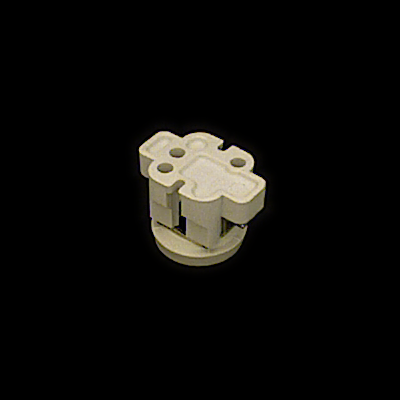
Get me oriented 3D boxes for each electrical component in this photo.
[{"bbox_3d":[0.000,0.000,0.639,0.078,0.057,0.058,27,48,24],"label":"electrical component"}]
